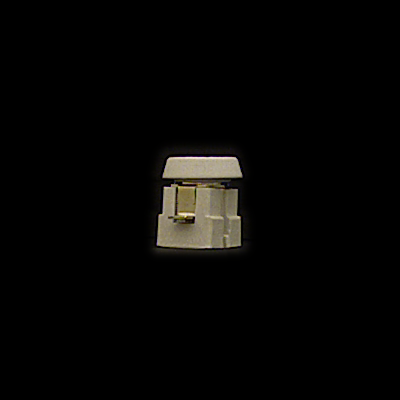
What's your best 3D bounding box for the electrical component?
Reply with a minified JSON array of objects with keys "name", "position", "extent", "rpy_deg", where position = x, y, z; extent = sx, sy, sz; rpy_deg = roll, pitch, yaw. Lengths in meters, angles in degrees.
[{"name":"electrical component","position":[0.000,0.000,0.656],"extent":[0.048,0.055,0.067],"rpy_deg":[0,1,25]}]
